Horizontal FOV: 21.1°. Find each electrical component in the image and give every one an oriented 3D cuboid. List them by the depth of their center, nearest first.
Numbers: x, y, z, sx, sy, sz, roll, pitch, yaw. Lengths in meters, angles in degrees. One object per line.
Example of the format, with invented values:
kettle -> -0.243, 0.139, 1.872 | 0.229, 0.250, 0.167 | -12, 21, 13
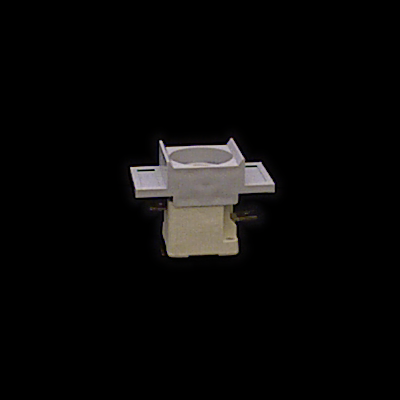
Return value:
electrical component -> 0.000, 0.000, 0.639 | 0.081, 0.064, 0.041 | -2, 20, -7
